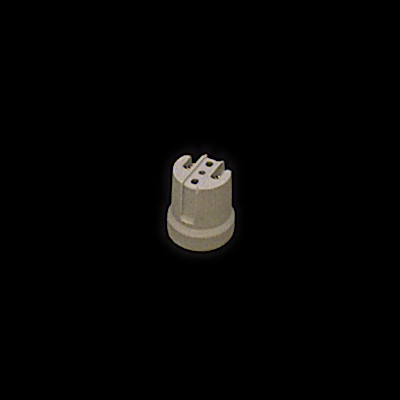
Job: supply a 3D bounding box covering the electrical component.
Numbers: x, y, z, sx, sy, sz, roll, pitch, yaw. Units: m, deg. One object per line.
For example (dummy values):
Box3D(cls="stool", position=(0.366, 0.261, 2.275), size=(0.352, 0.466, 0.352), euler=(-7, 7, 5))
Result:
Box3D(cls="electrical component", position=(0.000, 0.000, 0.636), size=(0.040, 0.046, 0.040), euler=(1, 43, 0))
